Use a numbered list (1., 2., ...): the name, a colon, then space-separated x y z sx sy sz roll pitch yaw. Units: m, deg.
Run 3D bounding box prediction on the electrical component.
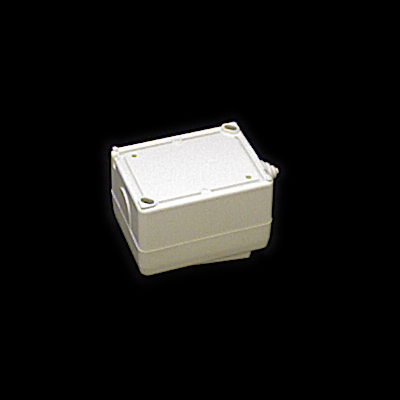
1. electrical component: 0.000 0.000 0.634 0.096 0.061 0.061 -13 43 -15
